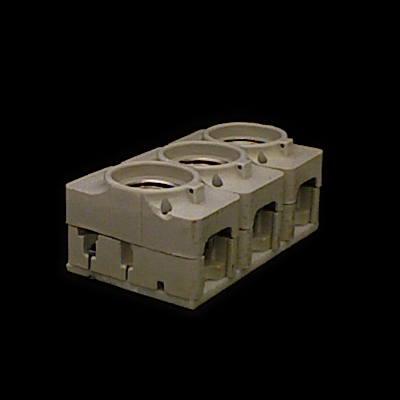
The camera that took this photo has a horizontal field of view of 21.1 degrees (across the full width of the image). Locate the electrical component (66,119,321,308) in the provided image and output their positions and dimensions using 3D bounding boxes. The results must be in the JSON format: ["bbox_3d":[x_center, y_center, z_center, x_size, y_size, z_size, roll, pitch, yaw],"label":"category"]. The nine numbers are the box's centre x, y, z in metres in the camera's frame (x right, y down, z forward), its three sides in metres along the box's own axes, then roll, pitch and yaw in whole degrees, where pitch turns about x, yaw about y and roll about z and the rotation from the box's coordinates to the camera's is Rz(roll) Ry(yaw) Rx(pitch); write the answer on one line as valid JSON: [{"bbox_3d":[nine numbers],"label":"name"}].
[{"bbox_3d":[0.000,0.000,0.645,0.089,0.063,0.148,14,24,29],"label":"electrical component"}]
